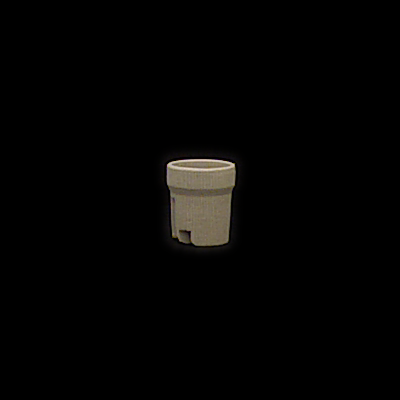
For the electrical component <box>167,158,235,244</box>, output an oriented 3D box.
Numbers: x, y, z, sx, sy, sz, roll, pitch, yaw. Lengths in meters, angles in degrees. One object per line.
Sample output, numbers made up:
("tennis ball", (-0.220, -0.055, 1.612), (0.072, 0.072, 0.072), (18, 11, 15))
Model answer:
("electrical component", (0.000, 0.000, 0.643), (0.040, 0.046, 0.040), (1, 11, 0))
